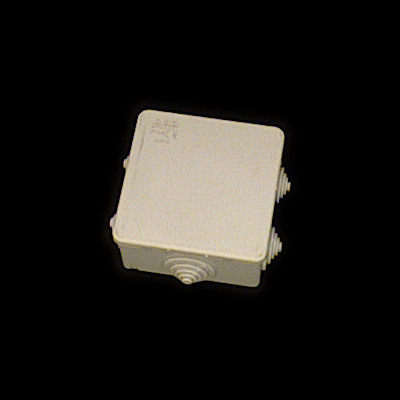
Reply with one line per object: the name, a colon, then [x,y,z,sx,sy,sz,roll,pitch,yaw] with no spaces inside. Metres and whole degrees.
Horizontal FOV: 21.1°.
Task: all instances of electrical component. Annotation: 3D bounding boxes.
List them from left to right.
electrical component: [0.000,0.000,0.640,0.099,0.100,0.048,9,-26,4]
